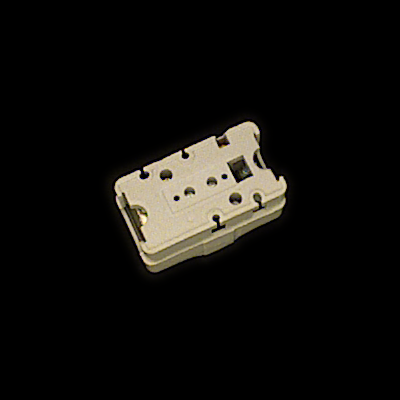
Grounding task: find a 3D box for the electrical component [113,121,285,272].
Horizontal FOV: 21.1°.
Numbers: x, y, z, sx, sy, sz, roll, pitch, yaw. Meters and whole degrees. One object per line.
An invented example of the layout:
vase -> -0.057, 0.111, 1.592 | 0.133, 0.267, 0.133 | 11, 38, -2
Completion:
electrical component -> 0.000, 0.000, 0.636 | 0.090, 0.050, 0.055 | -24, -16, -7
